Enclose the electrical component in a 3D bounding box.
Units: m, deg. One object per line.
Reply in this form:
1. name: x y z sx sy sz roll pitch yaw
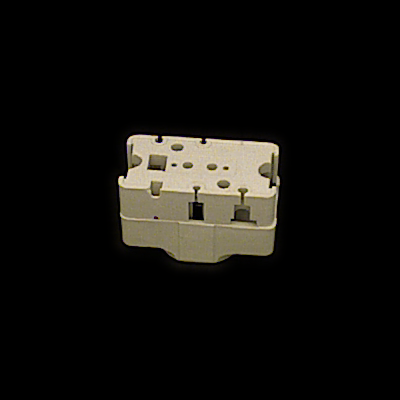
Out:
1. electrical component: 0.000 0.000 0.639 0.089 0.056 0.050 3 43 4
